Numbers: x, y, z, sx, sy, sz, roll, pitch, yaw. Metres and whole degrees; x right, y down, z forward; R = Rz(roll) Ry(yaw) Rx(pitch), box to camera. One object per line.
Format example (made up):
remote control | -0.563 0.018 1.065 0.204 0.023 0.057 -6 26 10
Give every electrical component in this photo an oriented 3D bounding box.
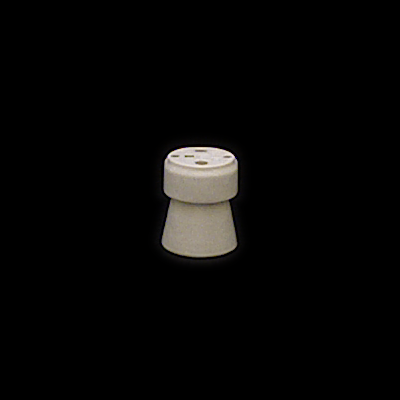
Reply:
electrical component | 0.000 0.000 0.641 0.045 0.056 0.044 1 21 0
